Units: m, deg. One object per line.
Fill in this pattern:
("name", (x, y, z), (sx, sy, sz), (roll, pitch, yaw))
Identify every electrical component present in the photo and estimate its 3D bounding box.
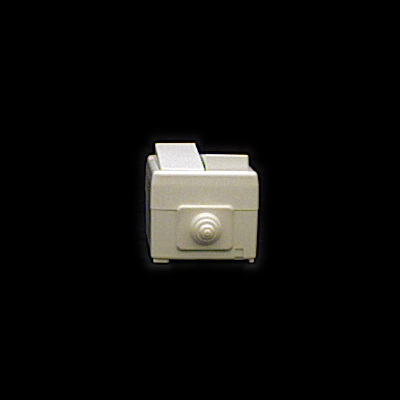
("electrical component", (0.000, 0.000, 0.641), (0.062, 0.061, 0.095), (0, 10, -5))
